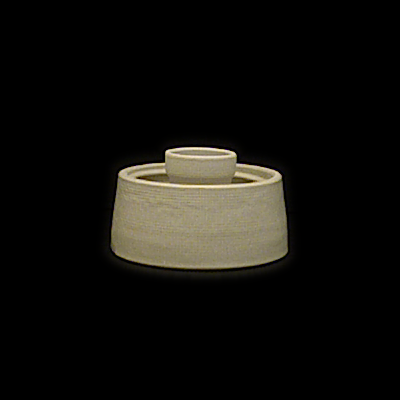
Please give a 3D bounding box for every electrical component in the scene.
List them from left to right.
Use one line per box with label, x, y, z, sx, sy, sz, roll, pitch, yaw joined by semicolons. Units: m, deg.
electrical component;0.000;0.000;0.649;0.108;0.061;0.107;2;11;0
